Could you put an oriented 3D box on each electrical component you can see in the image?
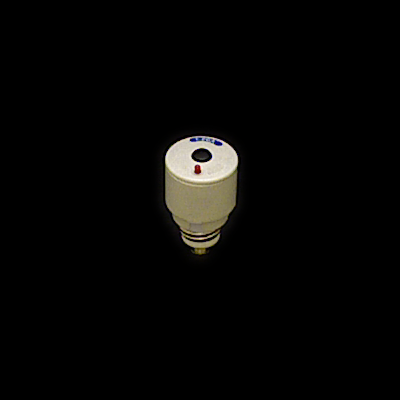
[{"bbox_3d":[0.000,0.000,0.622,0.040,0.079,0.039,1,42,0],"label":"electrical component"}]
